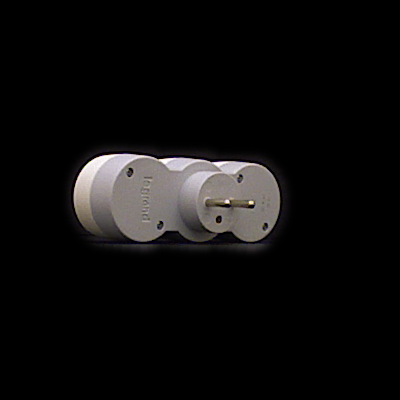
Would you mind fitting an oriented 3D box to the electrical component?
[{"bbox_3d":[0.000,0.000,0.652,0.138,0.052,0.073,2,1,-41],"label":"electrical component"}]
